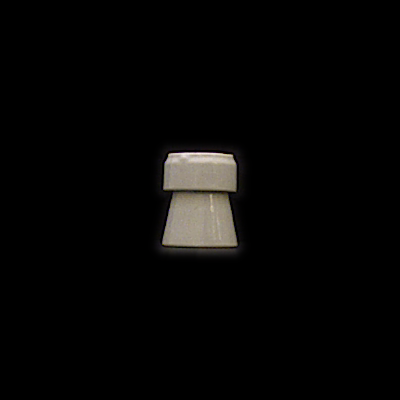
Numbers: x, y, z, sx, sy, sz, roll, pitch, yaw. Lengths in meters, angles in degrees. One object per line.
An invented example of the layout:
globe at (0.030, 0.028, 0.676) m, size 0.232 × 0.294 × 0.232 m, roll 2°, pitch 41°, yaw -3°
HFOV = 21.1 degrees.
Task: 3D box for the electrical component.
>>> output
electrical component at (0.000, 0.000, 0.650) m, size 0.045 × 0.055 × 0.045 m, roll 1°, pitch 0°, yaw 0°
